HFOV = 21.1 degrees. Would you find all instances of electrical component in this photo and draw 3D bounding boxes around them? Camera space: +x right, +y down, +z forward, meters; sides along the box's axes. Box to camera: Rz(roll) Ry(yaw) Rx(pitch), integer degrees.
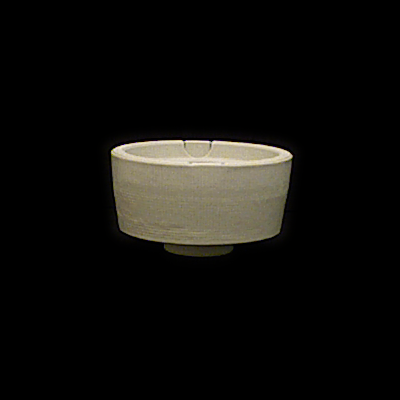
[{"bbox_3d":[0.000,0.000,0.648,0.108,0.061,0.107,1,11,0],"label":"electrical component"}]
